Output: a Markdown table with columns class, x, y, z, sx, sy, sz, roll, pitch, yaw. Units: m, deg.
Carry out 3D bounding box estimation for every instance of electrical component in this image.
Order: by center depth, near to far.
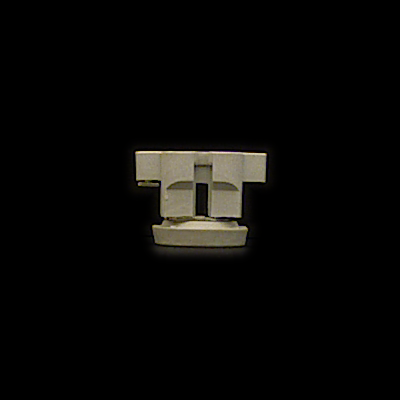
| class | x | y | z | sx | sy | sz | roll | pitch | yaw |
| --- | --- | --- | --- | --- | --- | --- | --- | --- | --- |
| electrical component | 0.000 | 0.000 | 0.655 | 0.079 | 0.057 | 0.057 | 0 | 2 | -5 |
